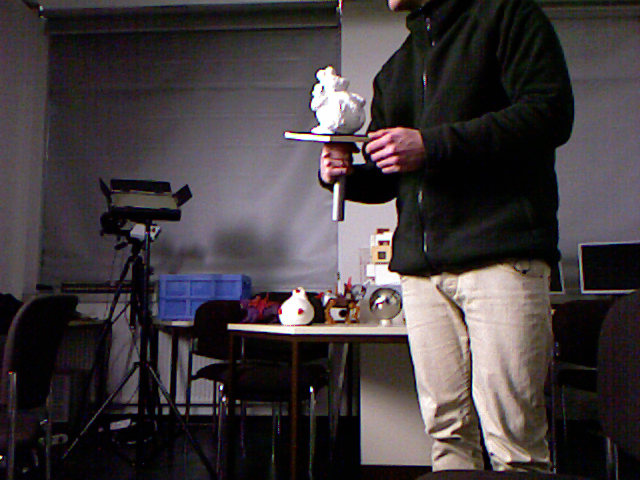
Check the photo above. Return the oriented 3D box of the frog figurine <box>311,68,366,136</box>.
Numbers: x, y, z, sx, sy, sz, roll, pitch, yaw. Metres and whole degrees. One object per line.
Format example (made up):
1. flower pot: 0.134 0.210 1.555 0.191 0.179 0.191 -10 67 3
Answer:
1. frog figurine: 0.045 -0.334 1.252 0.138 0.157 0.125 -2 19 -6
